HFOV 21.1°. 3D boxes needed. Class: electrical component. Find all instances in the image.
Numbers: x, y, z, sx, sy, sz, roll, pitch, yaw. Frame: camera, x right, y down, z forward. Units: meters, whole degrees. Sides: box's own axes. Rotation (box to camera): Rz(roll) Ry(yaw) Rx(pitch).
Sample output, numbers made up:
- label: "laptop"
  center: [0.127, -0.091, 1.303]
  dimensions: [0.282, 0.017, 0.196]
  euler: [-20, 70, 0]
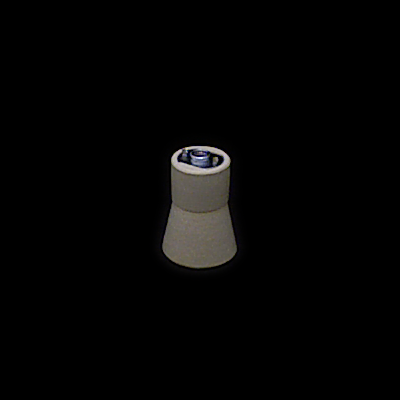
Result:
- label: "electrical component"
  center: [0.000, 0.000, 0.634]
  dimensions: [0.044, 0.066, 0.044]
  euler: [1, 30, 0]
